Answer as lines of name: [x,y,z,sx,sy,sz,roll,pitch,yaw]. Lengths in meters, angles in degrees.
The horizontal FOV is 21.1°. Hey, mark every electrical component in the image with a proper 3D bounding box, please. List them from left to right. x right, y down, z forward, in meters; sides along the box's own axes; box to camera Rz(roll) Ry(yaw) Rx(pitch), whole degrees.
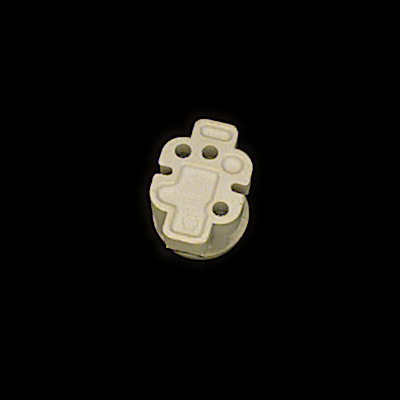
electrical component: [0.000,0.000,0.635,0.058,0.079,0.056,13,-24,6]
